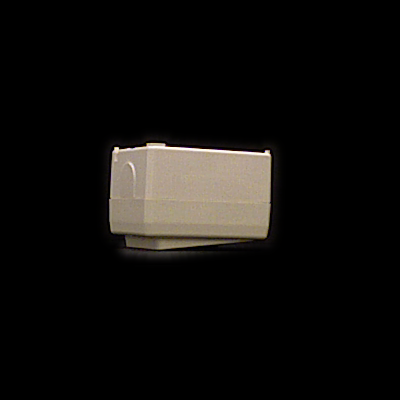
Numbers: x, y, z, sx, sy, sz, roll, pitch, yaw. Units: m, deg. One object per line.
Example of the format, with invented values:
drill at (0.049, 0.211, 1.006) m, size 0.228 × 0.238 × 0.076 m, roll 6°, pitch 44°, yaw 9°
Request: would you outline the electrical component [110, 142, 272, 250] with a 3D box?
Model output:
electrical component at (0.000, 0.000, 0.648) m, size 0.096 × 0.061 × 0.061 m, roll 2°, pitch 0°, yaw -26°
